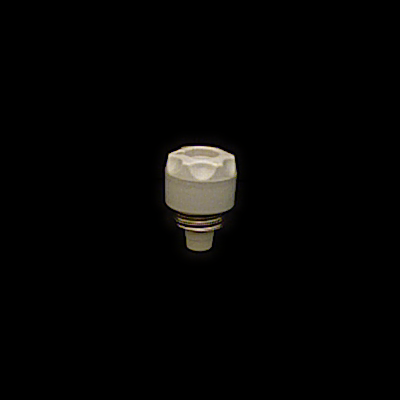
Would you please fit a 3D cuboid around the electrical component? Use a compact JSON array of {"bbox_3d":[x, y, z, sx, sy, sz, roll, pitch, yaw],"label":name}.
[{"bbox_3d":[0.000,0.000,0.646,0.043,0.063,0.043,2,22,0],"label":"electrical component"}]
